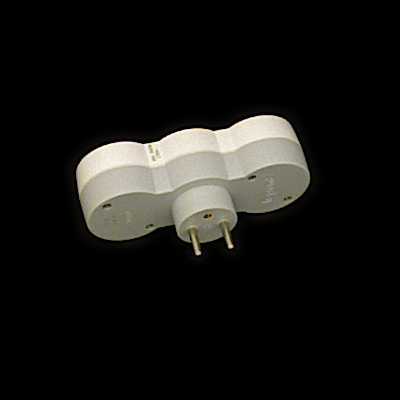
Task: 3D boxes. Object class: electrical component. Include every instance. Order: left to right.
[{"bbox_3d":[0.000,0.000,0.637,0.139,0.073,0.052,-11,-35,-9],"label":"electrical component"}]
